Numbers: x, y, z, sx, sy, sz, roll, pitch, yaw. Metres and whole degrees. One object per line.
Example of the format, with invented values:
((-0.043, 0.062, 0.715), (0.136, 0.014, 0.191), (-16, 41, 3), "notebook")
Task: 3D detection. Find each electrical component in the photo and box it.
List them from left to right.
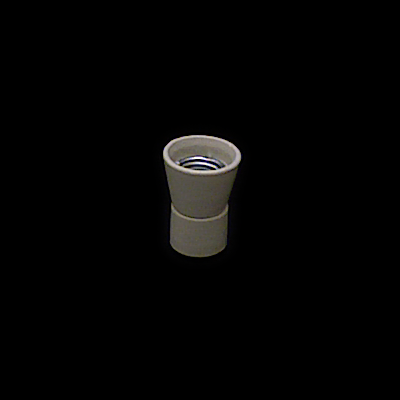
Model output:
((0.000, 0.000, 0.633), (0.044, 0.066, 0.044), (2, 31, -1), "electrical component")
